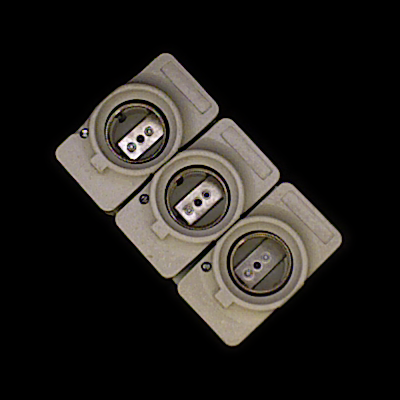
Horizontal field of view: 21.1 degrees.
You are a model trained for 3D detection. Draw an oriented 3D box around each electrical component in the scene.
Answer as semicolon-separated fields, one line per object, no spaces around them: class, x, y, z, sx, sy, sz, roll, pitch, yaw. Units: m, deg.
electrical component;0.000;0.000;0.632;0.089;0.150;0.061;-43;-5;-3
